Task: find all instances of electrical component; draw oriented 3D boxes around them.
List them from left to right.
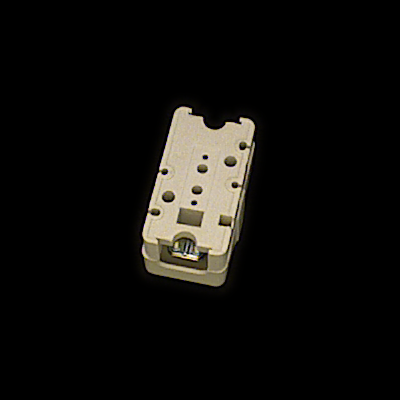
[{"bbox_3d":[0.000,0.000,0.636,0.050,0.090,0.055,11,-26,5],"label":"electrical component"}]
